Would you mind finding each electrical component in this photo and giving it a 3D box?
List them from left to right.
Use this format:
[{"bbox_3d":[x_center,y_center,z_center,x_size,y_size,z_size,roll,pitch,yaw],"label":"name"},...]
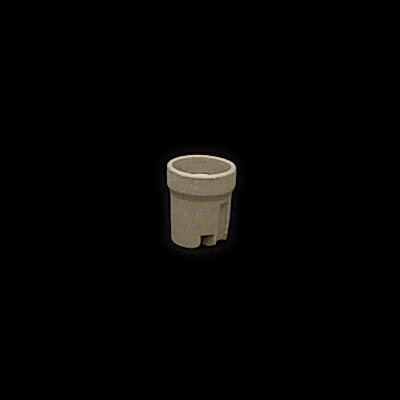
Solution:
[{"bbox_3d":[0.000,0.000,0.638,0.040,0.047,0.039,1,21,0],"label":"electrical component"}]
